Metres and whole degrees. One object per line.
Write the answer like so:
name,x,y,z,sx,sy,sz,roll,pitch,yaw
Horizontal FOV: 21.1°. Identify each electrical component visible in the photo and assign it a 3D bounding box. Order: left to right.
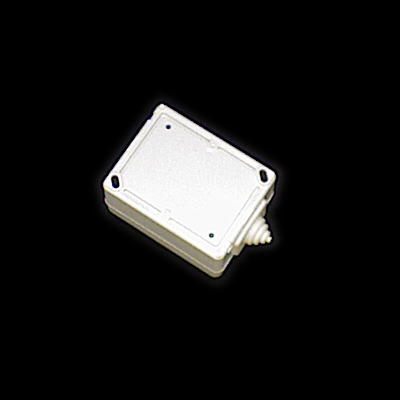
electrical component,0.000,0.000,0.625,0.096,0.062,0.060,32,-15,9
